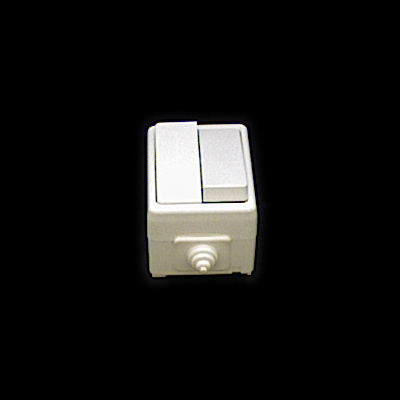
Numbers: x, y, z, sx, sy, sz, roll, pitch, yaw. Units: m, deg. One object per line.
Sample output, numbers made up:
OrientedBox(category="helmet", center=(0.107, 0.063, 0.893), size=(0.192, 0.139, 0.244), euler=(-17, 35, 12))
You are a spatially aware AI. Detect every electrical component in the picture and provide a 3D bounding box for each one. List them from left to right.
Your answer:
OrientedBox(category="electrical component", center=(0.000, 0.000, 0.629), size=(0.062, 0.061, 0.095), euler=(-1, 42, -2))
